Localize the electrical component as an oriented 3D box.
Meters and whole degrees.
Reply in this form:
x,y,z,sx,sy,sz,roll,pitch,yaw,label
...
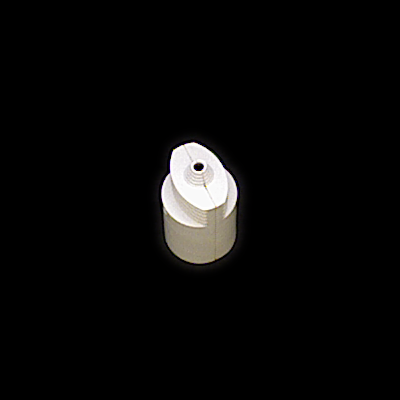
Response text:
x,y,z,sx,sy,sz,roll,pitch,yaw,label
0.000,0.000,0.617,0.043,0.043,0.081,0,-27,0,electrical component
